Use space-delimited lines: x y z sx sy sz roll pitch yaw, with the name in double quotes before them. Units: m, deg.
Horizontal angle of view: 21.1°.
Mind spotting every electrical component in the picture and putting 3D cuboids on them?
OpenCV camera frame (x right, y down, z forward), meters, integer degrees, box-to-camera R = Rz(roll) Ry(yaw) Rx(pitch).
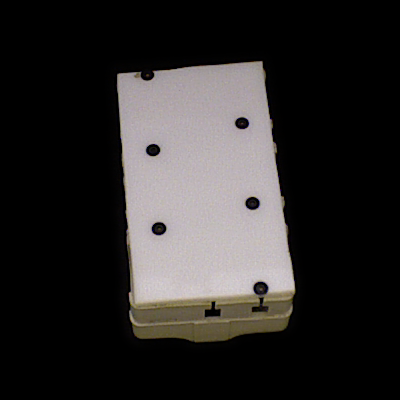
"electrical component" 0.000 0.000 0.630 0.089 0.149 0.062 -4 -27 -2
